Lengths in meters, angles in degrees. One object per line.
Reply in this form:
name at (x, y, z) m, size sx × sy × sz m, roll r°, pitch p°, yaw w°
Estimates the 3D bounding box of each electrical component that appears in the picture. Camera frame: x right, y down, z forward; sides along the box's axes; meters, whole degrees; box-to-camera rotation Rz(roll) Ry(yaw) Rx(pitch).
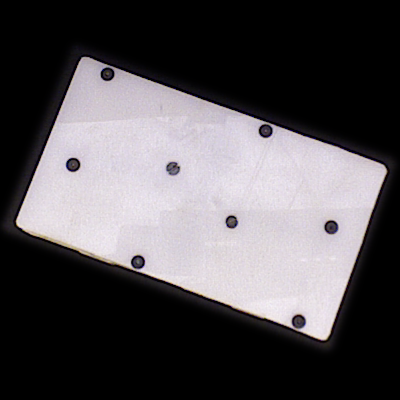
electrical component at (0.000, 0.000, 0.626) m, size 0.186 × 0.106 × 0.060 m, roll 20°, pitch -6°, yaw 3°
